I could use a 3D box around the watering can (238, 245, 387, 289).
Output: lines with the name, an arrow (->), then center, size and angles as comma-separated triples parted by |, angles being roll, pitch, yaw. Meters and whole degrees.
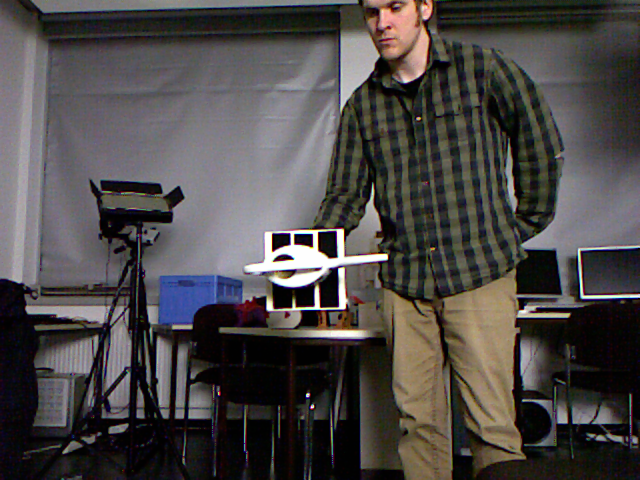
watering can -> -0.013, 0.062, 1.217 | 0.348, 0.105, 0.224 | -4, -5, 8
